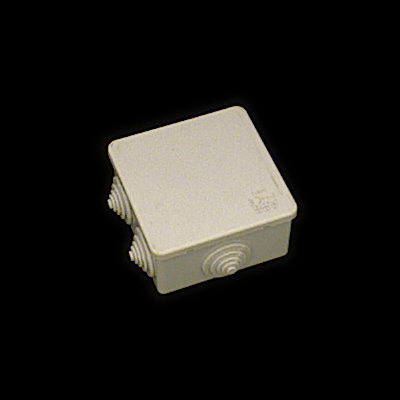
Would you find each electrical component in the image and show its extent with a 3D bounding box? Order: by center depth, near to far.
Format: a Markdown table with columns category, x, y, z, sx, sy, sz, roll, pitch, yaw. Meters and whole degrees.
| category | x | y | z | sx | sy | sz | roll | pitch | yaw |
| --- | --- | --- | --- | --- | --- | --- | --- | --- | --- |
| electrical component | 0.000 | 0.000 | 0.640 | 0.100 | 0.099 | 0.049 | -17 | -35 | -13 |
